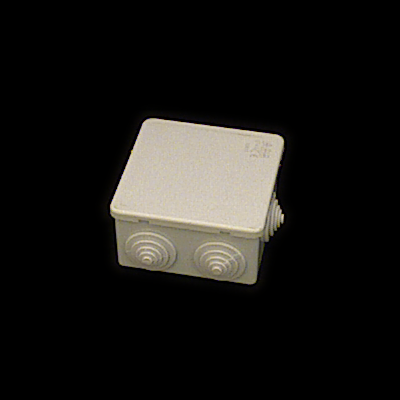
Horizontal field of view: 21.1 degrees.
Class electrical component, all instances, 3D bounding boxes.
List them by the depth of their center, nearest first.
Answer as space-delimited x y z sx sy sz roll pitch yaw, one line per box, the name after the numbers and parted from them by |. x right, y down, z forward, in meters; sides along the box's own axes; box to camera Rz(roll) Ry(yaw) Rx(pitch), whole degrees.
0.000 0.000 0.643 0.099 0.049 0.099 8 43 8 | electrical component
